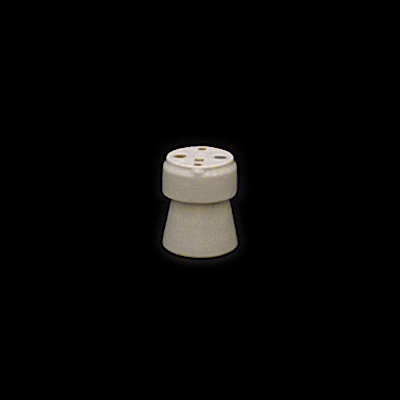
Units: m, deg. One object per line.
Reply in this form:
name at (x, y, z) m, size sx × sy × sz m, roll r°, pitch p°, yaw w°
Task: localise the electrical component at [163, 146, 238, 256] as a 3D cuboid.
electrical component at (0.000, 0.000, 0.640) m, size 0.045 × 0.056 × 0.044 m, roll 1°, pitch 21°, yaw 0°
